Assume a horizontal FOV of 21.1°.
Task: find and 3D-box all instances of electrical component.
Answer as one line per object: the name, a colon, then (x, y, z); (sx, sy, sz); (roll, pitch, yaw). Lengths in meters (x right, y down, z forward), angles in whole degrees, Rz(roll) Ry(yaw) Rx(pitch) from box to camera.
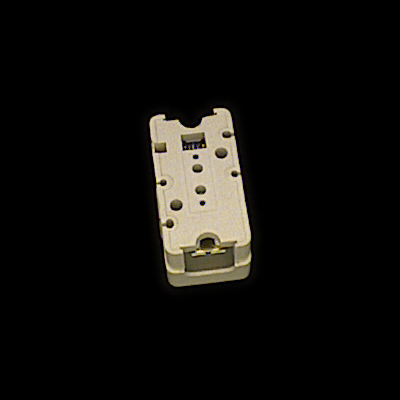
electrical component: (0.000, 0.000, 0.636); (0.050, 0.089, 0.055); (-7, -27, -3)
